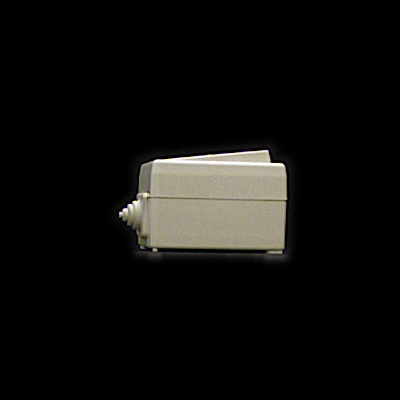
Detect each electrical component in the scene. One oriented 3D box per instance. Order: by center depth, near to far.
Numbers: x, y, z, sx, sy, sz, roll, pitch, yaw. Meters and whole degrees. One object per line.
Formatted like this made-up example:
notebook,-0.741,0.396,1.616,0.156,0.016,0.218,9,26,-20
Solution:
electrical component,0.000,0.000,0.650,0.096,0.061,0.061,1,0,-11
